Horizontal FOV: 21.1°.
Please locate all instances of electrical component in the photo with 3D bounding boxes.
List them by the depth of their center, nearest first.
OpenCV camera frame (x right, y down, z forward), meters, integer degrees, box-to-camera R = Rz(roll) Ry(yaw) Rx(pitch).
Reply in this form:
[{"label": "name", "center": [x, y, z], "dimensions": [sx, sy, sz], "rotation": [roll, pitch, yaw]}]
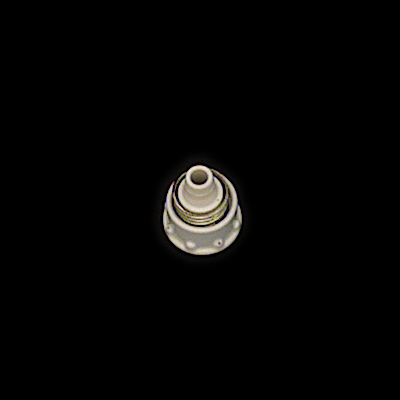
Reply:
[{"label": "electrical component", "center": [0.000, 0.000, 0.633], "dimensions": [0.048, 0.048, 0.062], "rotation": [0, -27, 2]}]
